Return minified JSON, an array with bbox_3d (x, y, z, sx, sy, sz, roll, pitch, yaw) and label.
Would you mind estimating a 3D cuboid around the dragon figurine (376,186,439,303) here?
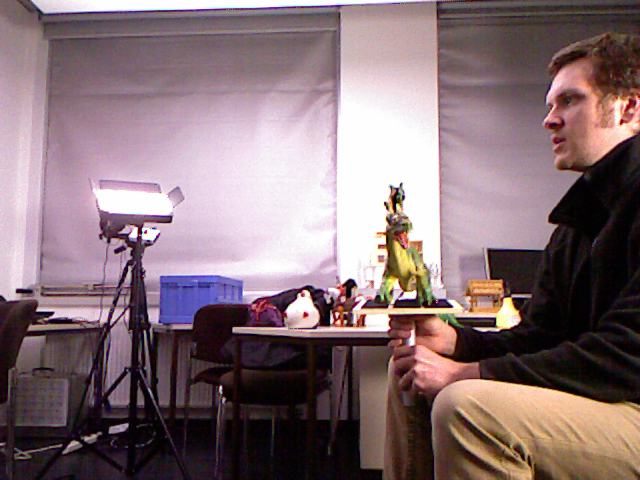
[{"bbox_3d":[0.171,0.006,1.078,0.122,0.243,0.410,-6,-1,8],"label":"dragon figurine"}]
